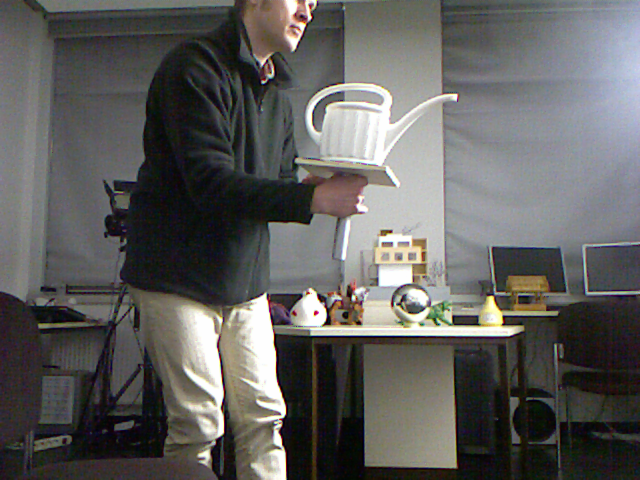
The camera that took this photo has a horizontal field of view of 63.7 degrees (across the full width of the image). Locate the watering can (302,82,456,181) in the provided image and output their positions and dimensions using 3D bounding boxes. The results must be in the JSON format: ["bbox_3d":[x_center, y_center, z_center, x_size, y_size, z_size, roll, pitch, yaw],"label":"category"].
[{"bbox_3d":[0.121,-0.244,1.171,0.349,0.224,0.104,6,4,15],"label":"watering can"}]
